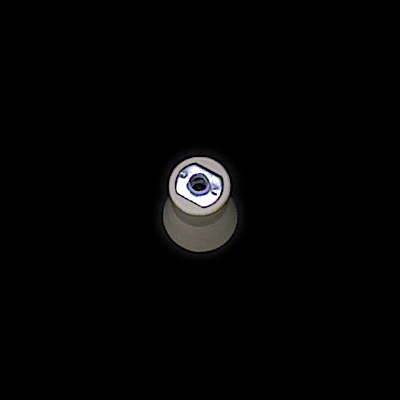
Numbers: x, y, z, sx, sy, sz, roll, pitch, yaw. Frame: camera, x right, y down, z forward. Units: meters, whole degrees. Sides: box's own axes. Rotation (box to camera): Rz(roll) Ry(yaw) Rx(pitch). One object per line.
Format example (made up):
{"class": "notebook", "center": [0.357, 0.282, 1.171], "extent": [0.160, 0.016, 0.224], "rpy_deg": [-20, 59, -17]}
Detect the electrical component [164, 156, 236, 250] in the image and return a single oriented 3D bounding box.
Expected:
{"class": "electrical component", "center": [0.000, 0.000, 0.625], "extent": [0.044, 0.044, 0.065], "rpy_deg": [0, -18, 0]}
